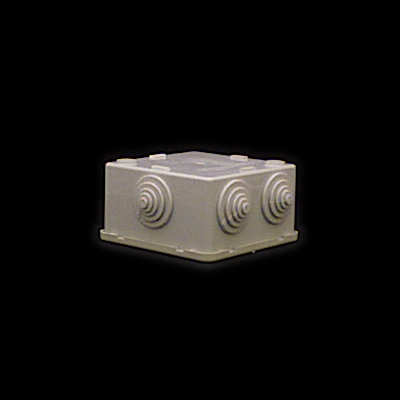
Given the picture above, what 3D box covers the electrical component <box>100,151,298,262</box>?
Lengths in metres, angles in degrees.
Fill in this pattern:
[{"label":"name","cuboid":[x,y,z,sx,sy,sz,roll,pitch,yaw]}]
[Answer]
[{"label":"electrical component","cuboid":[0.000,0.000,0.646,0.099,0.049,0.099,10,14,39]}]
